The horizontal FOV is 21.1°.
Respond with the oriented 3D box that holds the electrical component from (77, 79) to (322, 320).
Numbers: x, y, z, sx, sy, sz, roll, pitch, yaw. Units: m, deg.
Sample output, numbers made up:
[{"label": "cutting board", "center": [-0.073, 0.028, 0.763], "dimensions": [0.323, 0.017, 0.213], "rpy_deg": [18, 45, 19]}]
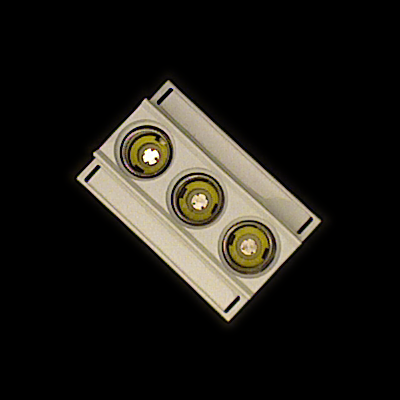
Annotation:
[{"label": "electrical component", "center": [0.000, 0.000, 0.637], "dimensions": [0.121, 0.079, 0.063], "rpy_deg": [43, -2, 4]}]
